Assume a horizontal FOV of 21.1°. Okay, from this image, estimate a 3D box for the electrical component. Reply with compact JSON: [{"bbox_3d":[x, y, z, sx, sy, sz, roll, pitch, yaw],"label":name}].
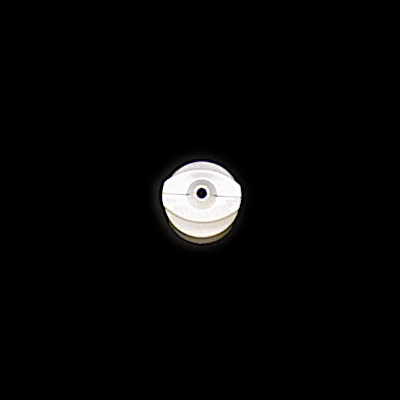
[{"bbox_3d":[0.000,0.000,0.616,0.043,0.043,0.080,0,-6,1],"label":"electrical component"}]
